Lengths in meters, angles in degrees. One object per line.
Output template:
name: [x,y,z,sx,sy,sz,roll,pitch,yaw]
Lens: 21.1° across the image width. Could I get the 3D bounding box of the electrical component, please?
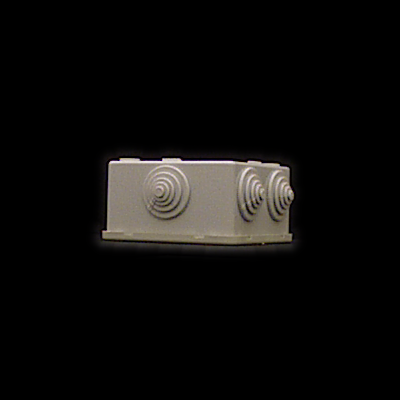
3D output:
electrical component: [0.000,0.000,0.651,0.099,0.048,0.100,2,0,28]
